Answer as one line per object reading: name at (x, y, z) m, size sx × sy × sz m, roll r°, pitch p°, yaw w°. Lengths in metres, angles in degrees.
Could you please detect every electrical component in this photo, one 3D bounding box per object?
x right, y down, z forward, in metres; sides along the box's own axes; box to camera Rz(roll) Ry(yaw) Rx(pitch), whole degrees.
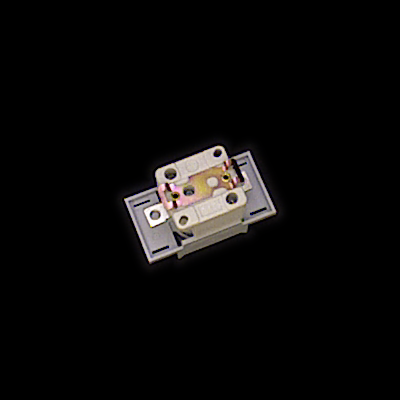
electrical component at (0.000, 0.000, 0.625) m, size 0.081 × 0.042 × 0.063 m, roll -22°, pitch -16°, yaw -6°
